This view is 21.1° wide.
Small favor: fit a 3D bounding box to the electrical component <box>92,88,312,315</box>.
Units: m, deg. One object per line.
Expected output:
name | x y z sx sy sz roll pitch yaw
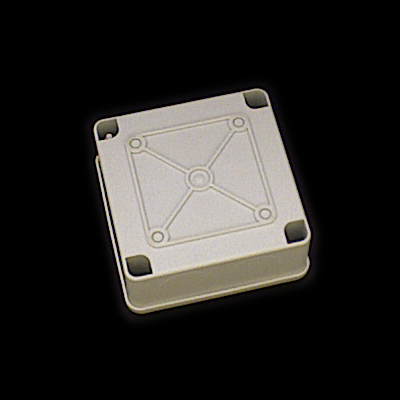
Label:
electrical component | 0.000 0.000 0.628 0.109 0.108 0.056 -12 -27 -6
